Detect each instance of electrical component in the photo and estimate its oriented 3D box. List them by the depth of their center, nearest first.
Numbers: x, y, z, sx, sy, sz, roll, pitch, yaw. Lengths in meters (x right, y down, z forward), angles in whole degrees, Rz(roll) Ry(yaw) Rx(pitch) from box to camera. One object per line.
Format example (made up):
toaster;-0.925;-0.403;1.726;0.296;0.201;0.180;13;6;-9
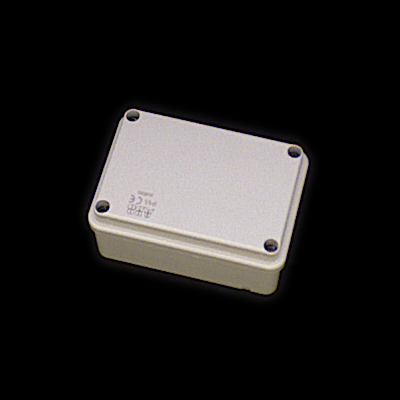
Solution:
electrical component;0.000;0.000;0.626;0.113;0.078;0.057;13;-26;6
